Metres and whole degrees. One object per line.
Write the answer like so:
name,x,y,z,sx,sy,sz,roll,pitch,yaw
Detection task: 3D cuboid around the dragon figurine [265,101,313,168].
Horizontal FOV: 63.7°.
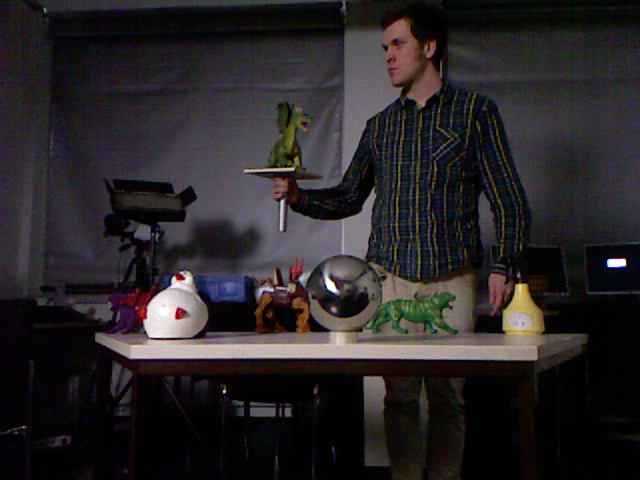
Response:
dragon figurine,-0.130,-0.367,1.823,0.122,0.243,0.410,4,-1,-26
